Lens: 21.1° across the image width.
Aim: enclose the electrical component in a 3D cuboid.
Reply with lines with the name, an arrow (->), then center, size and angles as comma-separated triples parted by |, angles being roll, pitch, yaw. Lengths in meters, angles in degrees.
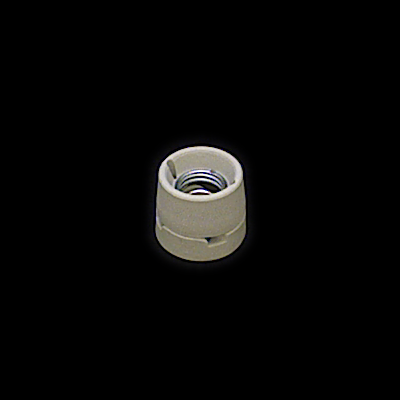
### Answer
electrical component -> 0.000, 0.000, 0.637 | 0.055, 0.047, 0.055 | 0, 41, 0
